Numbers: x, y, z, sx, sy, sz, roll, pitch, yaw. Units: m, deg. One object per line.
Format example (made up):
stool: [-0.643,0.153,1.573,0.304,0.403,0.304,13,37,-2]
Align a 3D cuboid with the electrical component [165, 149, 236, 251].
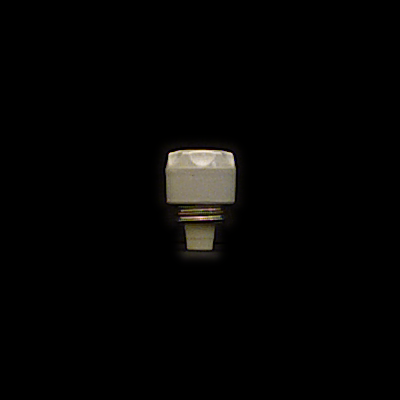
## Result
electrical component: [0.000,0.000,0.656,0.043,0.062,0.043,1,2,1]
